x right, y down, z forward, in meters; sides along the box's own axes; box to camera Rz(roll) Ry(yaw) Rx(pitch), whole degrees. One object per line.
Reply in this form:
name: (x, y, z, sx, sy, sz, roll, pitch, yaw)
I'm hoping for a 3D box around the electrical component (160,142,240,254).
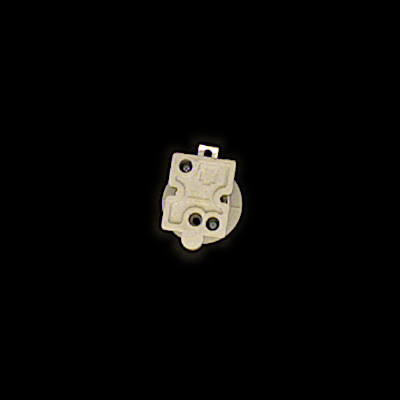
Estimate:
electrical component: (0.000, 0.000, 0.638, 0.048, 0.066, 0.055, 9, -6, 3)
